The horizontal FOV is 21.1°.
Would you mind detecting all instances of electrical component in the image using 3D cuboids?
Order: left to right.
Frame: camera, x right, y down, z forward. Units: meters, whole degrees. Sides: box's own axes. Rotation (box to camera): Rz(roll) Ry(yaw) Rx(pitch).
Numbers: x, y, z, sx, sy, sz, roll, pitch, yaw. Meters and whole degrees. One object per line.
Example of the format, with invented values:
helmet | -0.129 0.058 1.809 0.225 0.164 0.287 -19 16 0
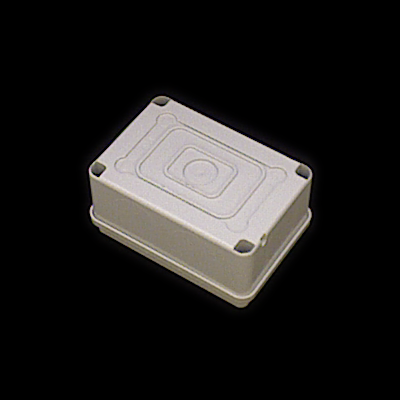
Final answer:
electrical component | 0.000 0.000 0.629 0.113 0.078 0.057 27 -33 20
